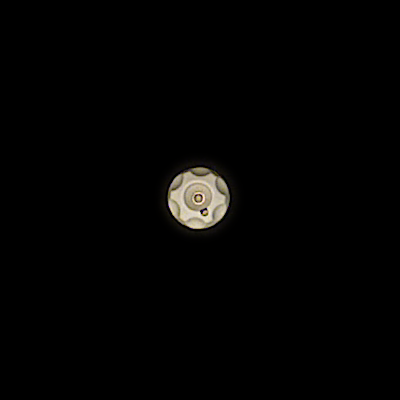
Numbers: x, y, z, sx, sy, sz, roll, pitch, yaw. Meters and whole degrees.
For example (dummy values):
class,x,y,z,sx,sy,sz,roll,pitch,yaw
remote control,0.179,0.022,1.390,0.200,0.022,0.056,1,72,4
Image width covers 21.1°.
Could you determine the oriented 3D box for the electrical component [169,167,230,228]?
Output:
class,x,y,z,sx,sy,sz,roll,pitch,yaw
electrical component,0.000,0.000,0.634,0.035,0.035,0.061,0,-5,1
